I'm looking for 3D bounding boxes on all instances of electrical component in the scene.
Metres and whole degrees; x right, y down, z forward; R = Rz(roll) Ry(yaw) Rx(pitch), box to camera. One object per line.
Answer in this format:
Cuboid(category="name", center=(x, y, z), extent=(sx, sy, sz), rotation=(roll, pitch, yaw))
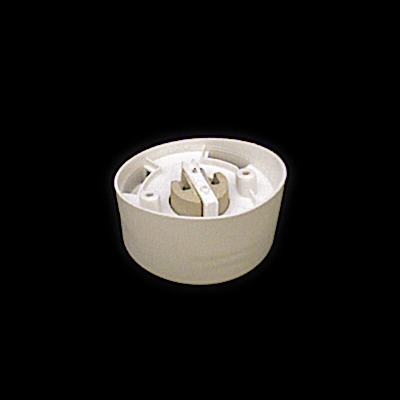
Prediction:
Cuboid(category="electrical component", center=(0.000, 0.000, 0.628), extent=(0.099, 0.065, 0.098), rotation=(1, 42, -1))
